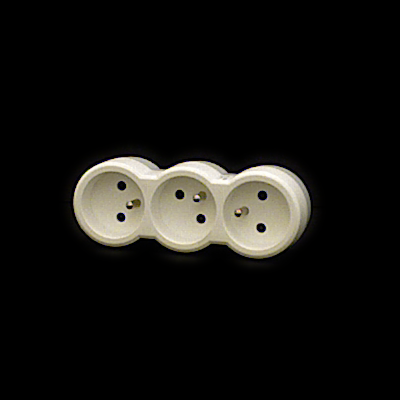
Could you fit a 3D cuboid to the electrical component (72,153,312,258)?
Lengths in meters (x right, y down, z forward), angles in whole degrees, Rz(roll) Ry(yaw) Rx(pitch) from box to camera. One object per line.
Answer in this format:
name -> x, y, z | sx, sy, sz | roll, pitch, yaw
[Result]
electrical component -> 0.000, 0.000, 0.654 | 0.137, 0.052, 0.073 | 4, 10, 14
